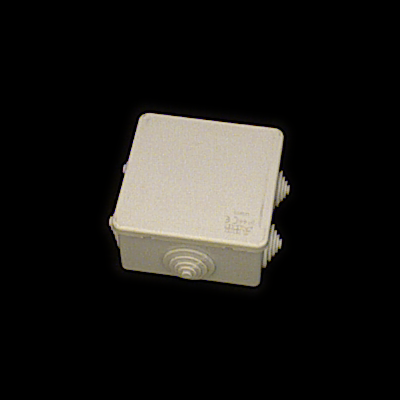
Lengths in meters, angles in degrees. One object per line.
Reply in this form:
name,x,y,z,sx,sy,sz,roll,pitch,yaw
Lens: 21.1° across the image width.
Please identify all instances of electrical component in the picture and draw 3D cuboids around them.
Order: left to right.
electrical component,0.000,0.000,0.640,0.099,0.099,0.048,8,-36,5
